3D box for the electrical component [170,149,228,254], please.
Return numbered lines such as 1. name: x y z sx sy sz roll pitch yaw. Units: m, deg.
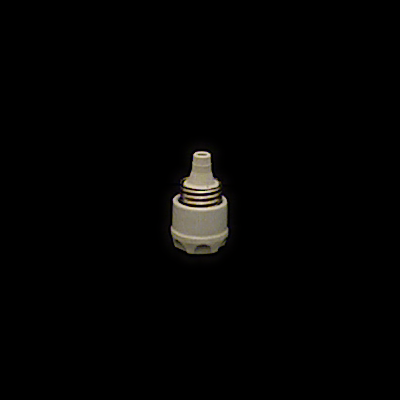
1. electrical component: 0.000 0.000 0.653 0.035 0.062 0.034 2 23 -1
